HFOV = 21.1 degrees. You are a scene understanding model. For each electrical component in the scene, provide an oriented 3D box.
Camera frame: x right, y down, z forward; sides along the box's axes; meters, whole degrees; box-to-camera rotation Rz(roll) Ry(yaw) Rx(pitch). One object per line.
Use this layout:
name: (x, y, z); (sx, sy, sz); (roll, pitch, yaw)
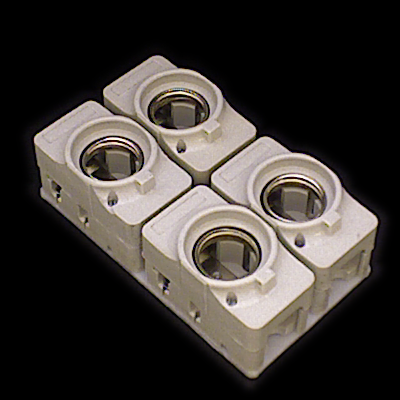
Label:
electrical component: (0.000, 0.000, 0.628); (0.105, 0.060, 0.185); (-38, 62, -26)
